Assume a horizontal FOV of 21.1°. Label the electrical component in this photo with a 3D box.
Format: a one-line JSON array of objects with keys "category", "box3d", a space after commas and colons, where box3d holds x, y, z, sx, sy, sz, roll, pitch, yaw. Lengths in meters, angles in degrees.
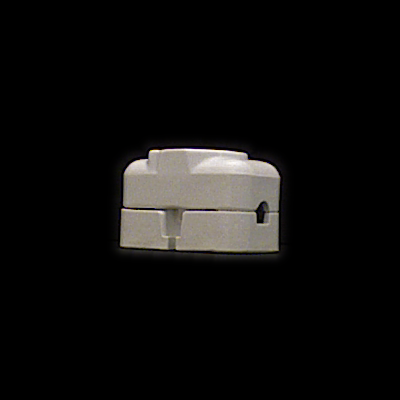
[{"category": "electrical component", "box3d": [0.000, 0.000, 0.655, 0.094, 0.059, 0.054, 2, 1, 36]}]
